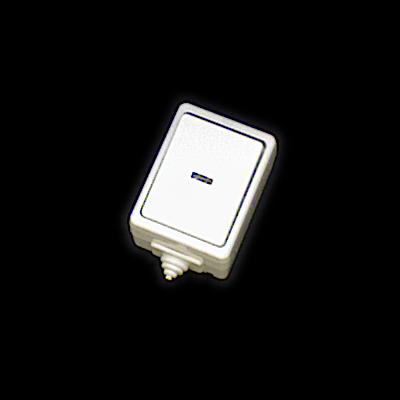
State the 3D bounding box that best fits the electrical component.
[{"bbox_3d":[0.000,0.000,0.625,0.062,0.097,0.060,21,-16,6],"label":"electrical component"}]
